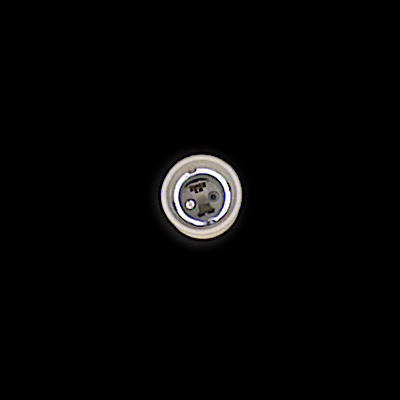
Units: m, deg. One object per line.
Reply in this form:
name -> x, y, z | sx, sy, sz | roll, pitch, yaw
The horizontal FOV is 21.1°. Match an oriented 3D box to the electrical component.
electrical component -> 0.000, 0.000, 0.629 | 0.045, 0.045, 0.055 | 0, -7, 0
